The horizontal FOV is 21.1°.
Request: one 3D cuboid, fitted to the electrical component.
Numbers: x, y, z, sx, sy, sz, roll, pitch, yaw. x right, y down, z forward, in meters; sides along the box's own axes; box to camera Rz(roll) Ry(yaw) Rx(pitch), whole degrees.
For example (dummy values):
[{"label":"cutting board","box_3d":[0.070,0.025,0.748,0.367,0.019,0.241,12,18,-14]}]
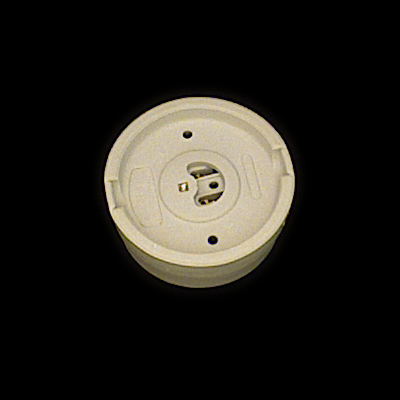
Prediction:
[{"label":"electrical component","box_3d":[0.000,0.000,0.632,0.108,0.108,0.060,0,-27,-1]}]
